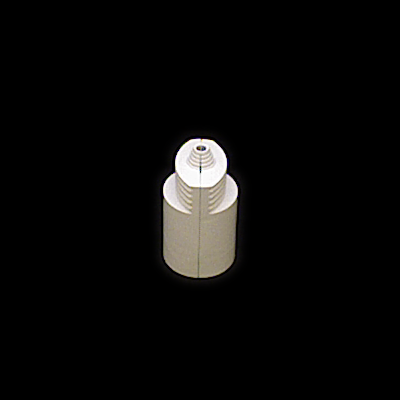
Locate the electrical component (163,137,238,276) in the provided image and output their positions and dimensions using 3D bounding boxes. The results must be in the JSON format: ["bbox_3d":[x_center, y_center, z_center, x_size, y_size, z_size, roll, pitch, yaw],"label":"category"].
[{"bbox_3d":[0.000,0.000,0.623,0.043,0.082,0.042,1,42,0],"label":"electrical component"}]
